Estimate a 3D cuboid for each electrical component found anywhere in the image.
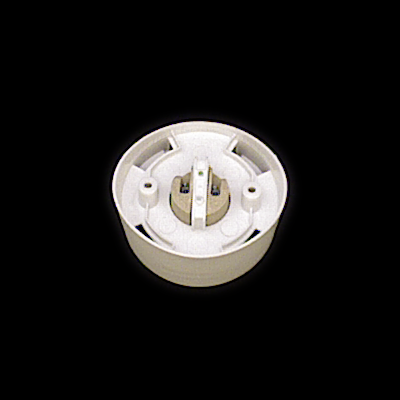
[{"bbox_3d":[0.000,0.000,0.624,0.099,0.099,0.064,0,-27,-1],"label":"electrical component"}]
